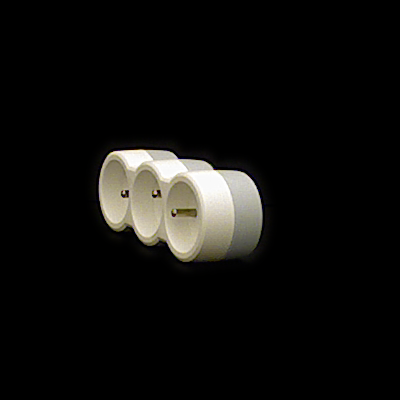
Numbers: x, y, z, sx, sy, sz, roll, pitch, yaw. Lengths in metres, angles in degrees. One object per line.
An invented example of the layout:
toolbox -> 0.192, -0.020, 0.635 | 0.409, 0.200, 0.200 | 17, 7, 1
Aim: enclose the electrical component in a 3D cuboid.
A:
electrical component -> 0.000, 0.000, 0.652 | 0.074, 0.052, 0.136 | -4, 12, -30
